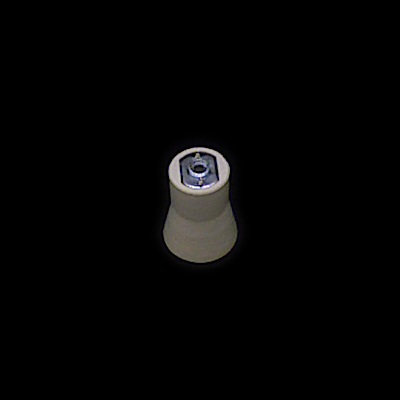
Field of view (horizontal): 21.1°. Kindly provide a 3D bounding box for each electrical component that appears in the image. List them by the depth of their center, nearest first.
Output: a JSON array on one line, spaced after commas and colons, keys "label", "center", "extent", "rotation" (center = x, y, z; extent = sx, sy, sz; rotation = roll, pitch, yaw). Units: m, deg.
[{"label": "electrical component", "center": [0.000, 0.000, 0.627], "extent": [0.044, 0.044, 0.065], "rotation": [0, -38, 1]}]
